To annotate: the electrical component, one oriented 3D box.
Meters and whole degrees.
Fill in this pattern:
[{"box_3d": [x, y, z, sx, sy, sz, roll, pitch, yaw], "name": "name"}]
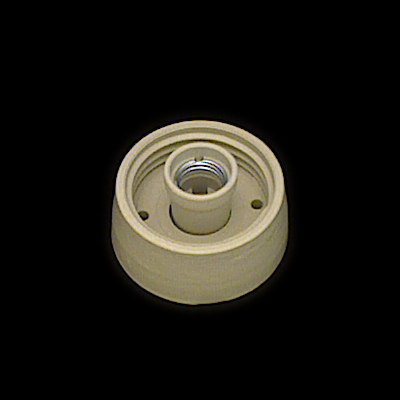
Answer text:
[{"box_3d": [0.000, 0.000, 0.634, 0.108, 0.107, 0.060, 0, -37, -1], "name": "electrical component"}]
